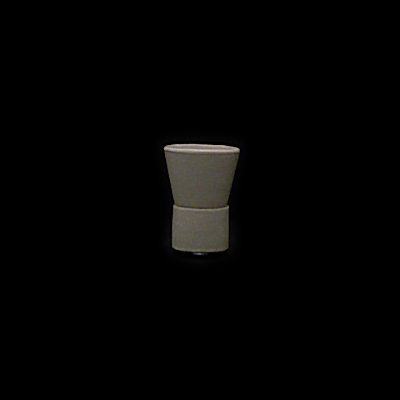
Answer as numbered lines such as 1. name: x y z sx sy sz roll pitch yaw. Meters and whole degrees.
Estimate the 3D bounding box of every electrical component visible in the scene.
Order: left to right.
1. electrical component: 0.000 0.000 0.646 0.044 0.066 0.044 1 10 0
